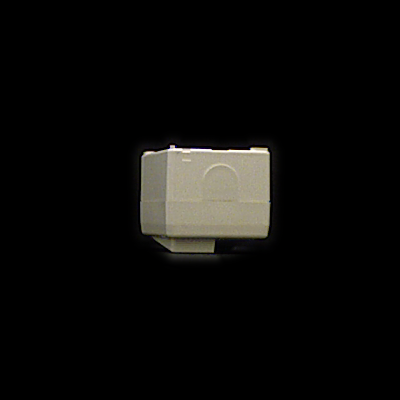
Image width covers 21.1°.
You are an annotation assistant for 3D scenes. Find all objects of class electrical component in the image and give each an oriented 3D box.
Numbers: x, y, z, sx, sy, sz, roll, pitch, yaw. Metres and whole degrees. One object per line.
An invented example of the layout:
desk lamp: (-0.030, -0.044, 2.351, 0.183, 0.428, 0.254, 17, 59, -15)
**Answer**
electrical component: (0.000, 0.000, 0.657, 0.062, 0.061, 0.096, 1, 0, -15)
